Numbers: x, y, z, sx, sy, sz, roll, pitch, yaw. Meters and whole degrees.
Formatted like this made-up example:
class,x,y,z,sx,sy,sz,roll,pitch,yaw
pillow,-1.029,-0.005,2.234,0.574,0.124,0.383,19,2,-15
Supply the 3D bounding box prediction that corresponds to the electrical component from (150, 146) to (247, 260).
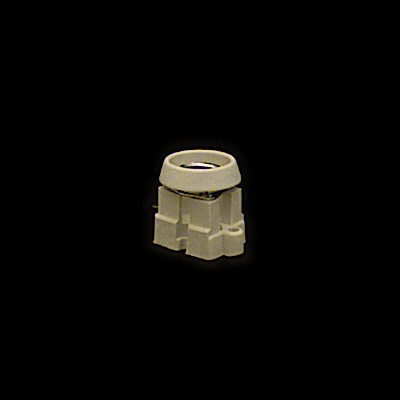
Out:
class,x,y,z,sx,sy,sz,roll,pitch,yaw
electrical component,0.000,0.000,0.646,0.065,0.056,0.048,16,24,32
